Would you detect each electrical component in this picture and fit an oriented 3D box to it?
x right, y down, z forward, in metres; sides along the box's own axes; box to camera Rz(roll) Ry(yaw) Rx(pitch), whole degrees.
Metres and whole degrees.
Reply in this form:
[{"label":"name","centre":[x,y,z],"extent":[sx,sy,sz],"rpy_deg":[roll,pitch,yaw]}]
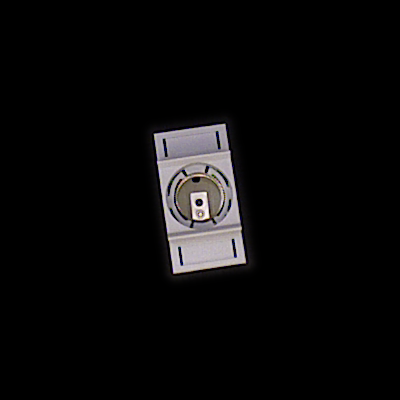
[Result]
[{"label":"electrical component","centre":[0.000,0.000,0.624],"extent":[0.042,0.081,0.063],"rpy_deg":[-8,-7,-2]}]
